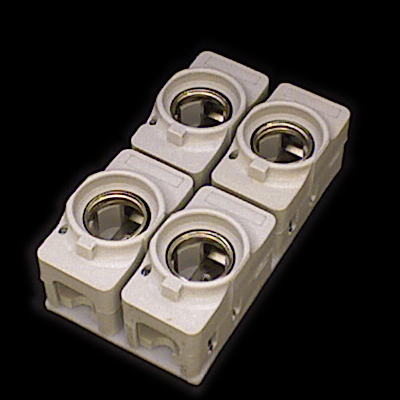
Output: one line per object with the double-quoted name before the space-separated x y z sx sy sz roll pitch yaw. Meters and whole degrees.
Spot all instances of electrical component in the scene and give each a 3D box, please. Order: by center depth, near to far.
"electrical component" 0.000 0.000 0.627 0.105 0.186 0.060 25 -33 18
